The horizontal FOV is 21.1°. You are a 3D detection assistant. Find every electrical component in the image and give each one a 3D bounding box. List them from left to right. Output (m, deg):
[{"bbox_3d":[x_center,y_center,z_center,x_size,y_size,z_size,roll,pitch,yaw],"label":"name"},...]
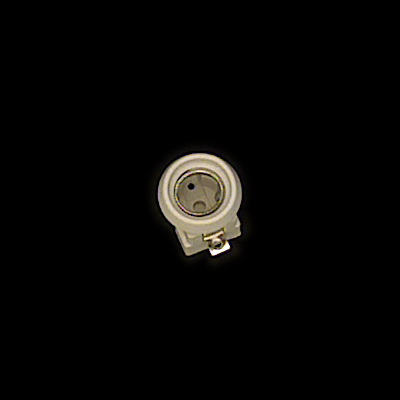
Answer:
[{"bbox_3d":[0.000,0.000,0.637,0.048,0.066,0.055,-24,-15,-5],"label":"electrical component"}]
